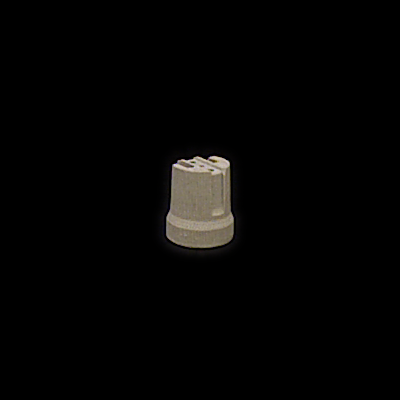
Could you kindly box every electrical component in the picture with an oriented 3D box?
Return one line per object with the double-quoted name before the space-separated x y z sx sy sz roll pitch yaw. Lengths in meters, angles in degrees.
"electrical component" 0.000 0.000 0.643 0.040 0.046 0.040 2 21 0
